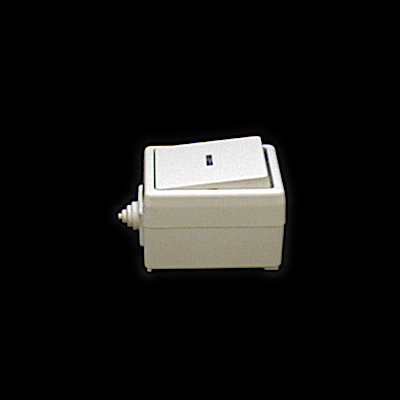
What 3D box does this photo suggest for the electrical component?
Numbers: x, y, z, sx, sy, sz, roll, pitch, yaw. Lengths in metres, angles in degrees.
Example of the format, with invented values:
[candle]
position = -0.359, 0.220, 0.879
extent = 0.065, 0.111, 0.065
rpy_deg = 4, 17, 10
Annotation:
[electrical component]
position = 0.000, 0.000, 0.634
extent = 0.096, 0.061, 0.061
rpy_deg = -1, 31, -3
